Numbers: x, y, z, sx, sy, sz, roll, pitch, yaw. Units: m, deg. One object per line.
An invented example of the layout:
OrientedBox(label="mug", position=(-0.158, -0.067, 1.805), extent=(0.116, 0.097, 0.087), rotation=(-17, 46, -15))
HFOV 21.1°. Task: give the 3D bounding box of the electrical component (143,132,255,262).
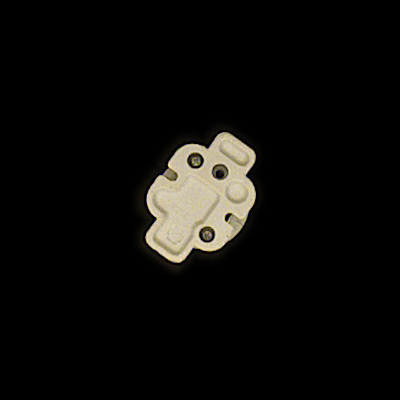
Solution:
OrientedBox(label="electrical component", position=(0.000, 0.000, 0.636), extent=(0.058, 0.078, 0.056), rotation=(35, -3, 3))
